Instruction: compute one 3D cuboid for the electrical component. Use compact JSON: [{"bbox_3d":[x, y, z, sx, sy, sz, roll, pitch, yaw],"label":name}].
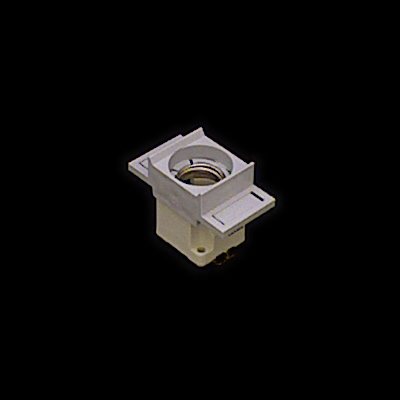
[{"bbox_3d":[0.000,0.000,0.630,0.042,0.064,0.080,-32,52,-30],"label":"electrical component"}]
